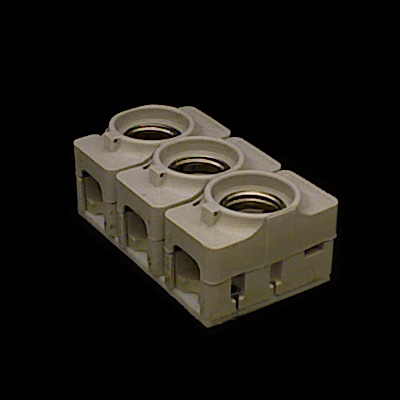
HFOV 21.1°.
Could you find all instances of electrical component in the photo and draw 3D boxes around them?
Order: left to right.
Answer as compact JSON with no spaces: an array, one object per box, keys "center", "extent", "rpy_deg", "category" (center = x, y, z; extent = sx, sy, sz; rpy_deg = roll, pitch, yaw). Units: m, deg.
[{"center":[0.000,0.000,0.639],"extent":[0.089,0.063,0.147],"rpy_deg":[-20,36,-29],"category":"electrical component"}]
